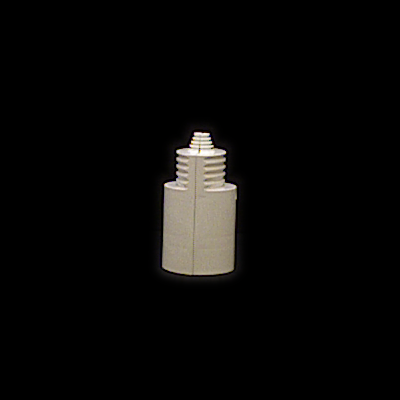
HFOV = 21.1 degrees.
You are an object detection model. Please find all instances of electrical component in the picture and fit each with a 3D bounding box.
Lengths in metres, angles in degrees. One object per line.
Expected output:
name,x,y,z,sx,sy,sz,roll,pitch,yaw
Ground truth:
electrical component,0.000,0.000,0.641,0.043,0.081,0.043,1,11,0
